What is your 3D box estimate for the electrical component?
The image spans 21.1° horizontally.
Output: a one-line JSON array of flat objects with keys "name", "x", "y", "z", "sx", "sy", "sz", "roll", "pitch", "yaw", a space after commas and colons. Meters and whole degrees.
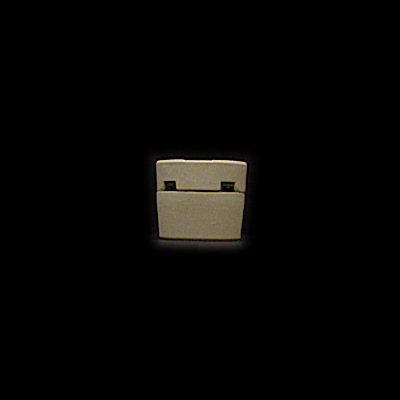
[{"name": "electrical component", "x": 0.000, "y": 0.000, "z": 0.651, "sx": 0.055, "sy": 0.047, "sz": 0.055, "roll": 2, "pitch": 1, "yaw": 0}]
